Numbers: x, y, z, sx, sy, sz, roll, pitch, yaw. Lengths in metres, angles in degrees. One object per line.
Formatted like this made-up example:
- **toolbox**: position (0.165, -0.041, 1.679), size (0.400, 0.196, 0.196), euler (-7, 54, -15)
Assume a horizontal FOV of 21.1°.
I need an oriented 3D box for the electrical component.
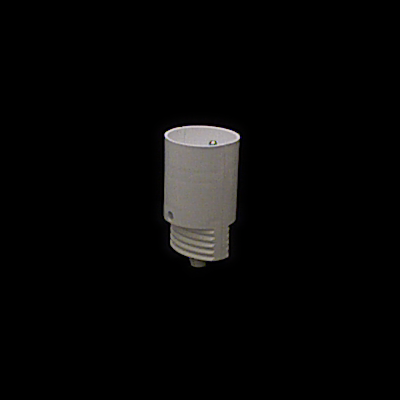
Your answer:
- **electrical component**: position (0.000, 0.000, 0.635), size (0.043, 0.082, 0.042), euler (1, 22, 0)
